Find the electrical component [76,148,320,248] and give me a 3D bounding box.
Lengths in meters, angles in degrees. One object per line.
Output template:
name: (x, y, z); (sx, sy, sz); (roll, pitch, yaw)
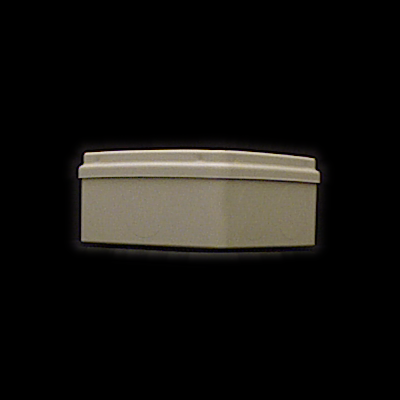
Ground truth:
electrical component: (0.000, 0.000, 0.648); (0.108, 0.056, 0.109); (1, 1, 36)
